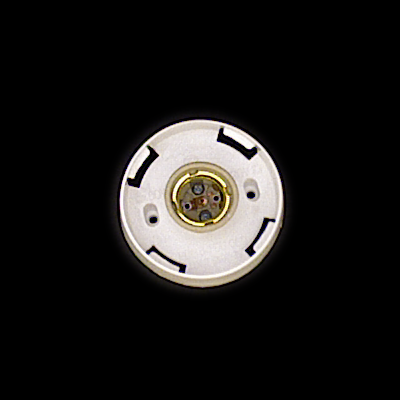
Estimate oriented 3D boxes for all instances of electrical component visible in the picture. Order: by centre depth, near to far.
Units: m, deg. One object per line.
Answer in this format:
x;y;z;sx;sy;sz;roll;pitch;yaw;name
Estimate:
0.000;0.000;0.625;0.099;0.099;0.064;0;-7;1;electrical component
